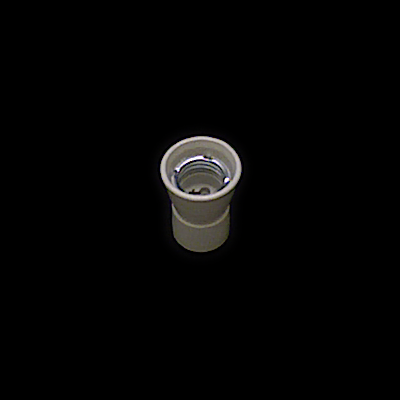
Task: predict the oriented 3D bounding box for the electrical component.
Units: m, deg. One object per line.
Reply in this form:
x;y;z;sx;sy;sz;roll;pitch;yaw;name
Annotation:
0.000;0.000;0.625;0.044;0.044;0.065;0;-36;0;electrical component
